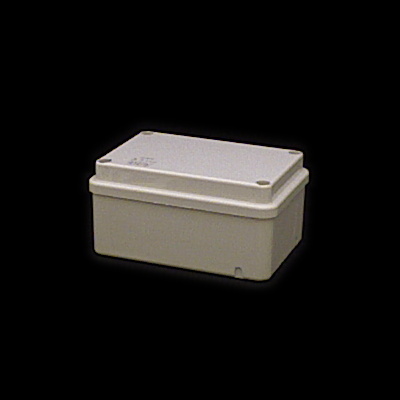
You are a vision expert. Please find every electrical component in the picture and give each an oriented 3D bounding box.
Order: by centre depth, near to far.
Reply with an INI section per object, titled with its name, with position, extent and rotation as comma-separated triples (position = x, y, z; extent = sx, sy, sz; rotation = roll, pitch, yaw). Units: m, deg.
[electrical component]
position = 0.000, 0.000, 0.637
extent = 0.113, 0.058, 0.077
rotation = 9, 22, 19
